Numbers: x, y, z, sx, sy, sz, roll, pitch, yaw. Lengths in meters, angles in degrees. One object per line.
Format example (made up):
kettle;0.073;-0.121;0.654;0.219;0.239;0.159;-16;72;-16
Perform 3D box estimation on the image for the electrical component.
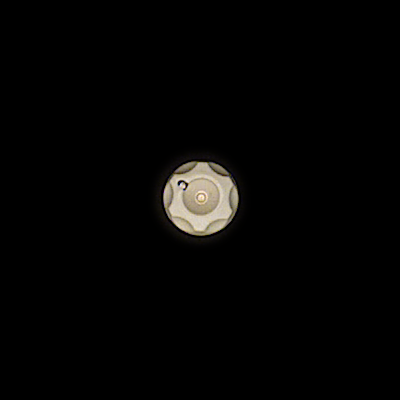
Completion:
electrical component;0.000;0.000;0.635;0.043;0.043;0.062;0;-5;0
